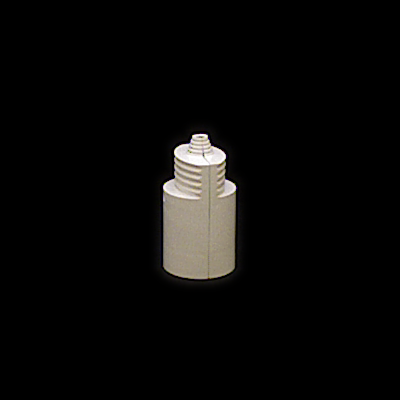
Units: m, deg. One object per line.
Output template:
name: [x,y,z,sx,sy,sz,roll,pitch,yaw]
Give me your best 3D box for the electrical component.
electrical component: [0.000,0.000,0.636,0.043,0.082,0.042,1,21,0]
